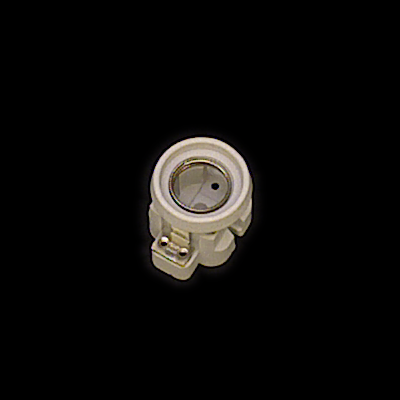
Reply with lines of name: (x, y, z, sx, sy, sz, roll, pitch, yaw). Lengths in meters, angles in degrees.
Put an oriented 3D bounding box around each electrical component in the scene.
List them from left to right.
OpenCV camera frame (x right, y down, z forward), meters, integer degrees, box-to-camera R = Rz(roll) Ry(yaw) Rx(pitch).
electrical component: (0.000, 0.000, 0.627, 0.058, 0.079, 0.056, 27, -24, 13)
